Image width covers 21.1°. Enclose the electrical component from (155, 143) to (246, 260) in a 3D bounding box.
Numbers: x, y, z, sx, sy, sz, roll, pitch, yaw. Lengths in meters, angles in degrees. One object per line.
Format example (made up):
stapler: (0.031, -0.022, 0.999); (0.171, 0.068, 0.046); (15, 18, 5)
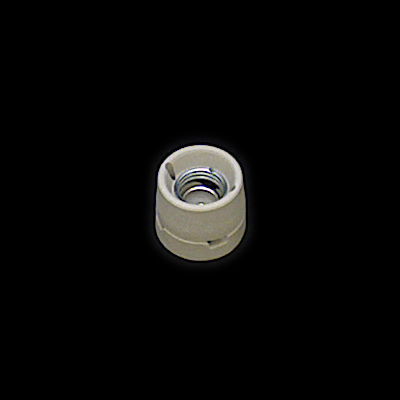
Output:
electrical component: (0.000, 0.000, 0.634); (0.055, 0.055, 0.047); (0, -38, 1)
